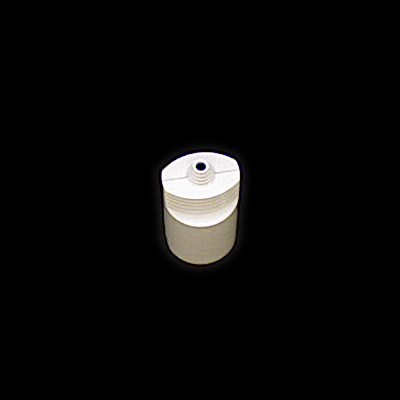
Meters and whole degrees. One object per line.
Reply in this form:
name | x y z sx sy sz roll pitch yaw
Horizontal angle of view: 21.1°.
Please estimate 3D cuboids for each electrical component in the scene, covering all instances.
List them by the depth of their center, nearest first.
electrical component | 0.000 0.000 0.617 0.043 0.043 0.081 0 -27 0
